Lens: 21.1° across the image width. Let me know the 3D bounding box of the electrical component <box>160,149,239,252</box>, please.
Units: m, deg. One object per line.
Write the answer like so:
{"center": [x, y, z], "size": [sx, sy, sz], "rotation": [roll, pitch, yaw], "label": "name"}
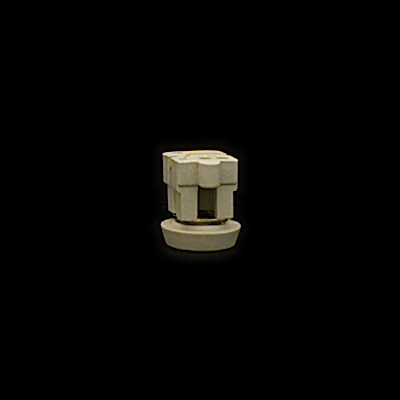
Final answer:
{"center": [0.000, 0.000, 0.651], "size": [0.048, 0.056, 0.066], "rotation": [-3, 12, -14], "label": "electrical component"}
